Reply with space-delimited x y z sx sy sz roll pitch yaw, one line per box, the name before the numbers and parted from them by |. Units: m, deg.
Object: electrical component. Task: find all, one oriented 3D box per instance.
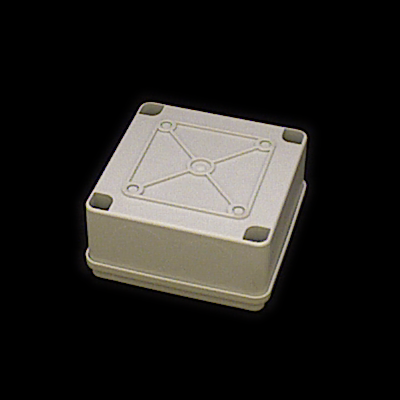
electrical component | 0.000 0.000 0.631 0.108 0.057 0.108 12 43 11
